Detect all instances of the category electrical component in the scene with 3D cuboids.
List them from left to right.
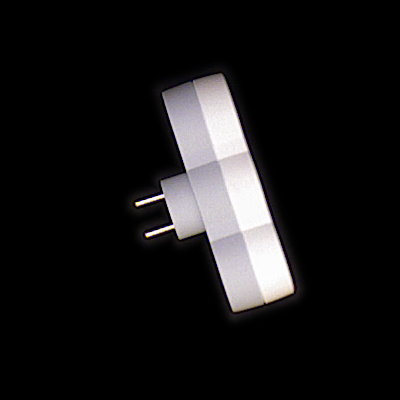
[{"bbox_3d":[0.000,0.000,0.631,0.074,0.138,0.052,-18,-6,0],"label":"electrical component"}]
